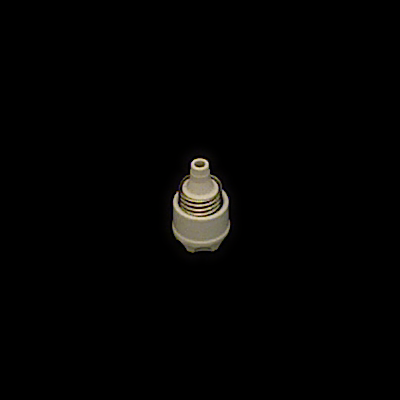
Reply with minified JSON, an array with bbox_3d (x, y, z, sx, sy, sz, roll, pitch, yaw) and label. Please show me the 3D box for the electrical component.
[{"bbox_3d":[0.000,0.000,0.643,0.035,0.062,0.035,-1,43,1],"label":"electrical component"}]
